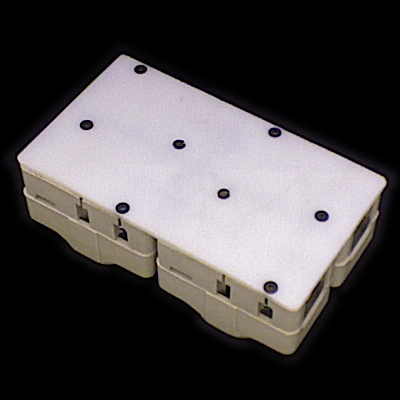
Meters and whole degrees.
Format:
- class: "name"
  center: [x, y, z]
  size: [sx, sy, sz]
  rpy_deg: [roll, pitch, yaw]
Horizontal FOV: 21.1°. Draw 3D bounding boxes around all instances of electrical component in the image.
- class: "electrical component"
  center: [0.000, 0.000, 0.627]
  size: [0.186, 0.105, 0.060]
  rpy_deg: [27, -33, 19]
